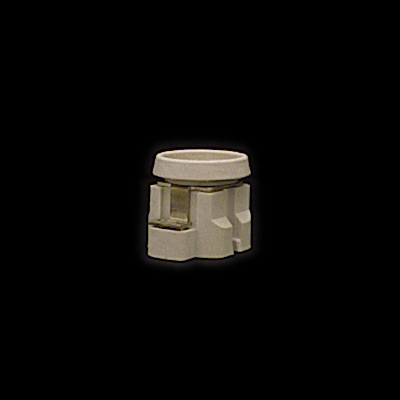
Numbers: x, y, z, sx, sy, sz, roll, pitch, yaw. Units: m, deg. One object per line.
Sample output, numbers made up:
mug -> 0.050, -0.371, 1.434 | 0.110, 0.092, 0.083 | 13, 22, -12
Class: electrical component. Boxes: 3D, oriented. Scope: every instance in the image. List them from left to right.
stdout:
electrical component -> 0.000, 0.000, 0.642 | 0.057, 0.057, 0.078 | 8, 13, 31
